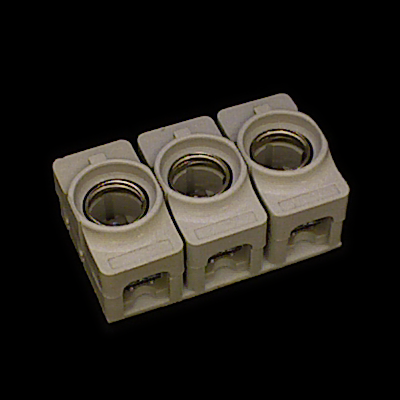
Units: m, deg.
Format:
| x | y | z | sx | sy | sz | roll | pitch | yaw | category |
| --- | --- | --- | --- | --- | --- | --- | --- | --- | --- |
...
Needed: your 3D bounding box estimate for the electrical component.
| x | y | z | sx | sy | sz | roll | pitch | yaw | category |
| --- | --- | --- | --- | --- | --- | --- | --- | --- | --- |
| 0.000 | 0.000 | 0.634 | 0.150 | 0.088 | 0.062 | -18 | -36 | -14 | electrical component |
